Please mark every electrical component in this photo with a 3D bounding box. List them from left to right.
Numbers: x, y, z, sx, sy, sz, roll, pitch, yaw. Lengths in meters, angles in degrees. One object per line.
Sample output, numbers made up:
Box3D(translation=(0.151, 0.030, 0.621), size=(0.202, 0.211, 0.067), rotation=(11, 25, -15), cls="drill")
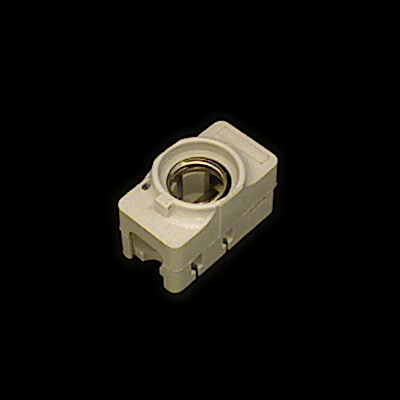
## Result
Box3D(translation=(0.000, 0.000, 0.637), size=(0.050, 0.056, 0.090), rotation=(36, 60, 24), cls="electrical component")
